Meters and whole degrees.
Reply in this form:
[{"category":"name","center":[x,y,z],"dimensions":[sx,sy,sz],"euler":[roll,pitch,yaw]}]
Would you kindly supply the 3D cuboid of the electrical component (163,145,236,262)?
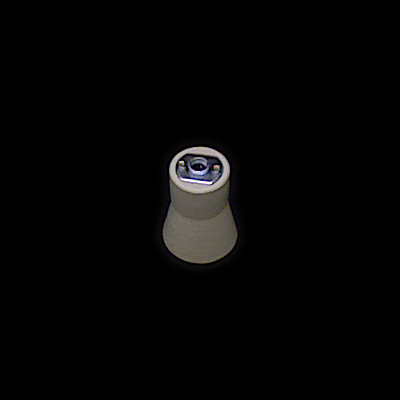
[{"category":"electrical component","center":[0.000,0.000,0.628],"dimensions":[0.044,0.044,0.065],"euler":[0,-39,0]}]
